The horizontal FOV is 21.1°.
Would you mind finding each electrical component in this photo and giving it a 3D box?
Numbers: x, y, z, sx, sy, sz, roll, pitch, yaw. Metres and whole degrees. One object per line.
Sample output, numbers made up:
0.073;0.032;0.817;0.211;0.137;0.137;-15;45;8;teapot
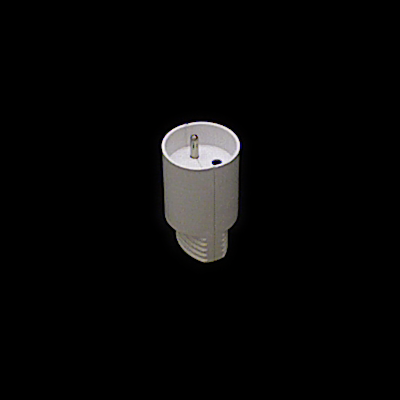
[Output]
0.000;0.000;0.623;0.043;0.082;0.042;1;41;0;electrical component
